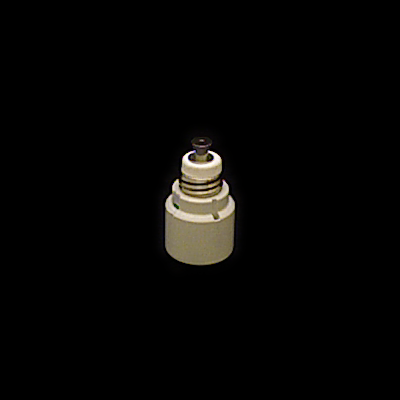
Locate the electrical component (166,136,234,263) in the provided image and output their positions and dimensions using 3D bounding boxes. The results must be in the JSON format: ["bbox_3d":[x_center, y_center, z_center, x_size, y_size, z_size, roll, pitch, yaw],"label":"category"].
[{"bbox_3d":[0.000,0.000,0.631,0.040,0.079,0.039,2,32,-1],"label":"electrical component"}]
